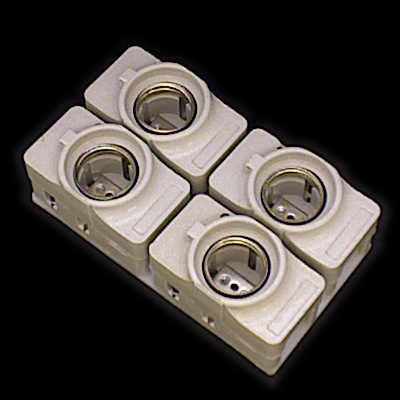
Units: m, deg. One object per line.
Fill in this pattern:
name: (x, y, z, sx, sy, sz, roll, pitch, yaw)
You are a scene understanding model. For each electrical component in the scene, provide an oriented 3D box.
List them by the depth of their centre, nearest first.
electrical component: (0.000, 0.000, 0.625, 0.186, 0.106, 0.060, 35, -22, 16)
